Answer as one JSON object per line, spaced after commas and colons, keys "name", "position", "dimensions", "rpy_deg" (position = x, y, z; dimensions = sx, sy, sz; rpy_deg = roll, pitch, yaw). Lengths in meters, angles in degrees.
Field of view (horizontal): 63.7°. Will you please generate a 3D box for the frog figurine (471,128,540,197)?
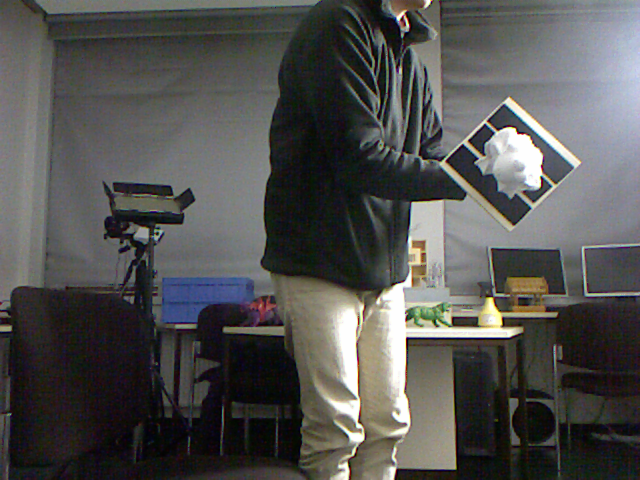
{"name": "frog figurine", "position": [0.382, -0.158, 1.012], "dimensions": [0.123, 0.138, 0.159], "rpy_deg": [-23, -5, -1]}
